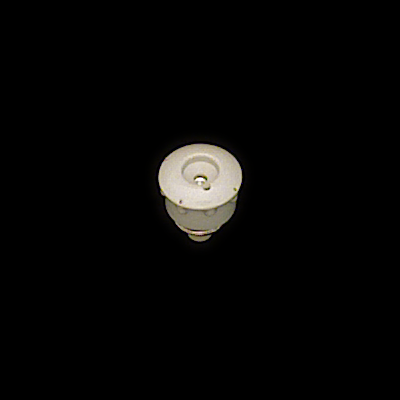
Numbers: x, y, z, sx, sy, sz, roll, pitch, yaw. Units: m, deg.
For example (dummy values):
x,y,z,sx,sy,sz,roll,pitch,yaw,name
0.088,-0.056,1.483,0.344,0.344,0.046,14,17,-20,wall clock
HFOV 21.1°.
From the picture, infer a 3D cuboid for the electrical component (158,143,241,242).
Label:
x,y,z,sx,sy,sz,roll,pitch,yaw,name
0.000,0.000,0.635,0.048,0.048,0.062,0,-37,0,electrical component
